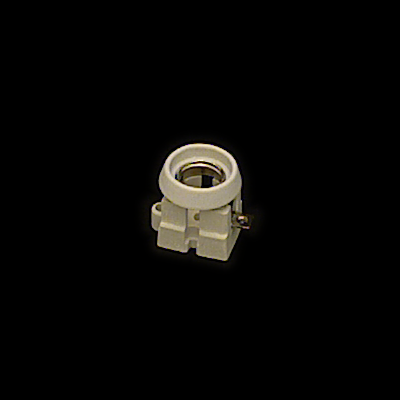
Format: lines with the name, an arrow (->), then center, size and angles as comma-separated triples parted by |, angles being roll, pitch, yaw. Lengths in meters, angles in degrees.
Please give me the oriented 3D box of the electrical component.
electrical component -> 0.000, 0.000, 0.640 | 0.066, 0.056, 0.048 | 11, 46, 11
